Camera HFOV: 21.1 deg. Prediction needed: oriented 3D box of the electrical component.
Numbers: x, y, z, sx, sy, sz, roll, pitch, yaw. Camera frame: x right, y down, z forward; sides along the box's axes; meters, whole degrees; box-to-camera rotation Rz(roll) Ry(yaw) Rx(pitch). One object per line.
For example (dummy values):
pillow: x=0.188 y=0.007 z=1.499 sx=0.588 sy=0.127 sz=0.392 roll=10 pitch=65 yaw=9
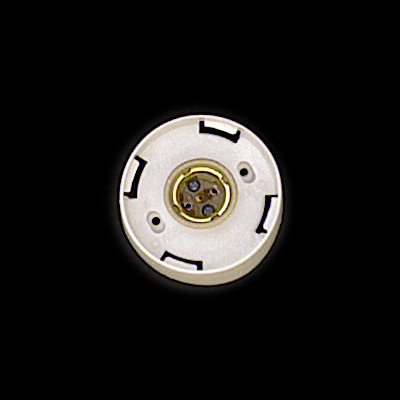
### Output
electrical component: x=0.000 y=0.000 z=0.625 sx=0.099 sy=0.099 sz=0.064 roll=0 pitch=-6 yaw=0
